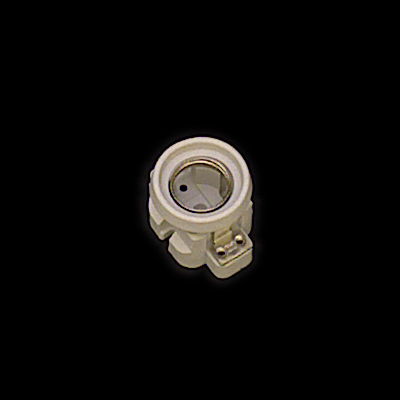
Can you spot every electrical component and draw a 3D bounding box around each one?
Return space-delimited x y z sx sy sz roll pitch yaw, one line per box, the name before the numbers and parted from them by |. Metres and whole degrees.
electrical component | 0.000 0.000 0.628 0.058 0.078 0.057 -32 -23 -15
